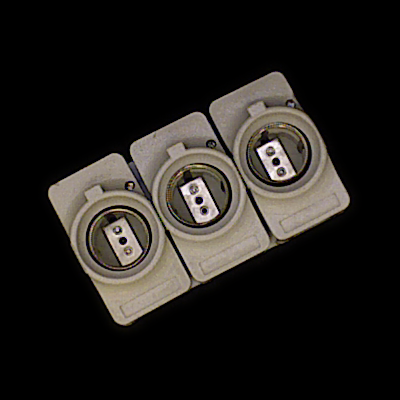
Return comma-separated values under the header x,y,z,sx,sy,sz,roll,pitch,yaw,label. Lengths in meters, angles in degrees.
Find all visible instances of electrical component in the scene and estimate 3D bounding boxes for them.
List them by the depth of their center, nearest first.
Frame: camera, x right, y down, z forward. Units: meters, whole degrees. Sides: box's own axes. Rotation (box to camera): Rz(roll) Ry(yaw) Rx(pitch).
x,y,z,sx,sy,sz,roll,pitch,yaw,label
0.000,0.000,0.632,0.150,0.089,0.061,-28,-6,-3,electrical component
